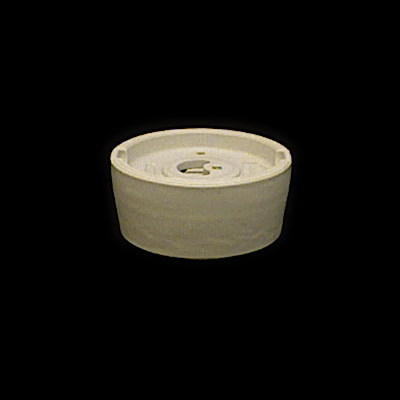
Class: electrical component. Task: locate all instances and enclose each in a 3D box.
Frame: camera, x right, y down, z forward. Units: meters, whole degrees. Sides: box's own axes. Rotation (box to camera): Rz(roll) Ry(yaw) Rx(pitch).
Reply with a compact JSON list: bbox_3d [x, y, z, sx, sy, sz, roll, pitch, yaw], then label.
[{"bbox_3d":[0.000,0.000,0.648,0.108,0.061,0.106,1,21,0],"label":"electrical component"}]
